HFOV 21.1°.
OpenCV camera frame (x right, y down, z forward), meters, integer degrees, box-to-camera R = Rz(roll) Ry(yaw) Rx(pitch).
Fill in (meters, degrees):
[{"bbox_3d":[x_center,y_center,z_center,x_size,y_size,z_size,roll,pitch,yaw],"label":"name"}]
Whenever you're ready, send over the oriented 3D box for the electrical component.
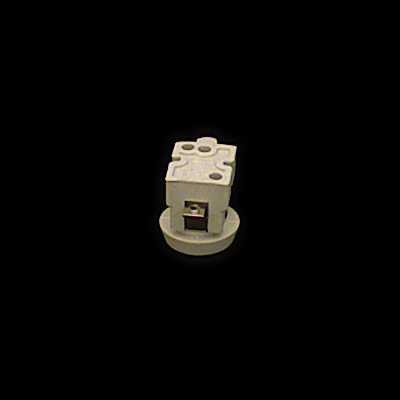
[{"bbox_3d":[0.000,0.000,0.644,0.048,0.056,0.066,5,33,5],"label":"electrical component"}]
